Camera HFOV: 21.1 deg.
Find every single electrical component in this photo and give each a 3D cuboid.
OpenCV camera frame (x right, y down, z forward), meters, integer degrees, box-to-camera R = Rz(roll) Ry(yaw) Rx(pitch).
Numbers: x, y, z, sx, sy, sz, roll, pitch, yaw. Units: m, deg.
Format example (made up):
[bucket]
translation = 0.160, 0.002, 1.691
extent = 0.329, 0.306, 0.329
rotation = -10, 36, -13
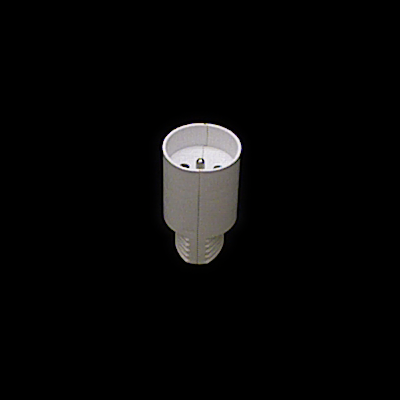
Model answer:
[electrical component]
translation = 0.000, 0.000, 0.621
extent = 0.043, 0.082, 0.042
rotation = 0, 42, 0
